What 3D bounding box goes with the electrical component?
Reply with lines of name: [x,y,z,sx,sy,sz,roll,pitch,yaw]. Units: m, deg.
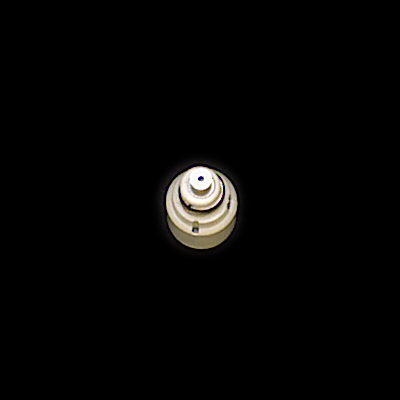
electrical component: [0.000,0.000,0.617,0.040,0.040,0.078,0,-18,1]
